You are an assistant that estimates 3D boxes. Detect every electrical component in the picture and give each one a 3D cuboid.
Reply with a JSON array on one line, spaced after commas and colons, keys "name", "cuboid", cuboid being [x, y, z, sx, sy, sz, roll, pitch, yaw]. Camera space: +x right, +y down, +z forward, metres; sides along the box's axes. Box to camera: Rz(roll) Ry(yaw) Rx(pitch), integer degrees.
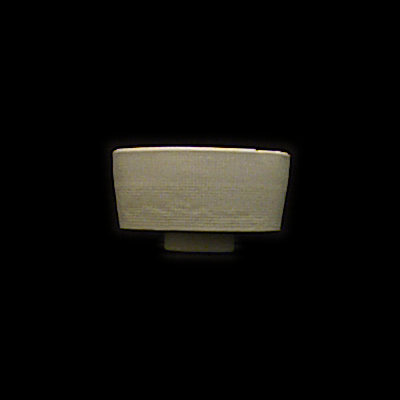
[{"name": "electrical component", "cuboid": [0.000, 0.000, 0.656, 0.108, 0.060, 0.108, 1, 0, 0]}]
